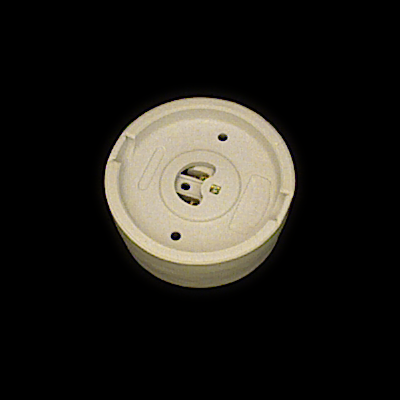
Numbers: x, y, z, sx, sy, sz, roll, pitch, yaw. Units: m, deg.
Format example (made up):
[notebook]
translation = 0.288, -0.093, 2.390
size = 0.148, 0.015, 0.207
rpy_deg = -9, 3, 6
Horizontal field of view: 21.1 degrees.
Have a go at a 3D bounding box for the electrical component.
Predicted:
[electrical component]
translation = 0.000, 0.000, 0.634
size = 0.108, 0.108, 0.060
rpy_deg = 0, -27, 0
